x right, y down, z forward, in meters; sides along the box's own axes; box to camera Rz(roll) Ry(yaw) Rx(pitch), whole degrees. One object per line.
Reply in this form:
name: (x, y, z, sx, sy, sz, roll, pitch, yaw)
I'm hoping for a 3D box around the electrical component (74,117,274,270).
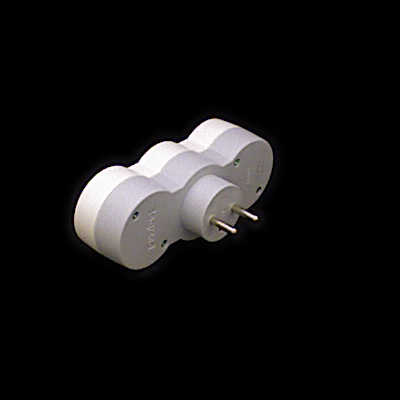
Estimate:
electrical component: (0.000, 0.000, 0.639, 0.073, 0.053, 0.137, 28, 39, 33)
